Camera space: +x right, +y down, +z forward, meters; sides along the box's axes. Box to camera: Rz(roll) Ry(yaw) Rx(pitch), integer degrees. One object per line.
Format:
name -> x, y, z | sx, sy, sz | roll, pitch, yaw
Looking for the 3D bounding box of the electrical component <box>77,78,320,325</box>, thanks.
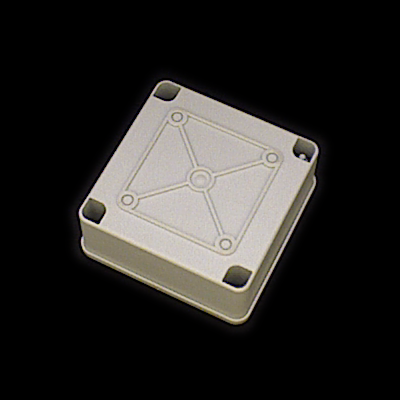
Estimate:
electrical component -> 0.000, 0.000, 0.629 | 0.108, 0.109, 0.056 | 24, -25, 11
